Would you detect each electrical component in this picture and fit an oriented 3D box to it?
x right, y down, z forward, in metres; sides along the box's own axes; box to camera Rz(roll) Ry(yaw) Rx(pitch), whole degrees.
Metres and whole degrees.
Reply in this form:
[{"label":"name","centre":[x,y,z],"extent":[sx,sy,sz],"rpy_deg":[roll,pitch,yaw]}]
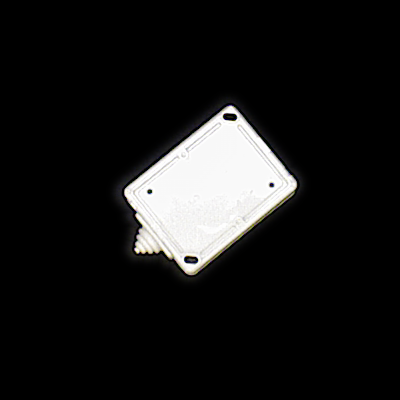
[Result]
[{"label":"electrical component","centre":[0.000,0.000,0.625],"extent":[0.096,0.062,0.060],"rpy_deg":[-39,-5,-4]}]
